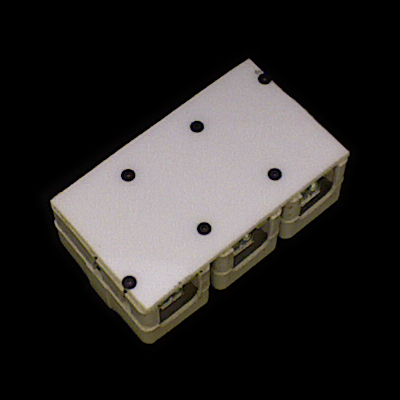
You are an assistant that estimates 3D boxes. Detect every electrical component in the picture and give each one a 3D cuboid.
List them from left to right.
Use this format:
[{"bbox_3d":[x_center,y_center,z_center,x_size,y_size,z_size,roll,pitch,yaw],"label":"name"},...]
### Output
[{"bbox_3d":[0.000,0.000,0.629,0.150,0.089,0.062,-37,-22,-17],"label":"electrical component"}]
